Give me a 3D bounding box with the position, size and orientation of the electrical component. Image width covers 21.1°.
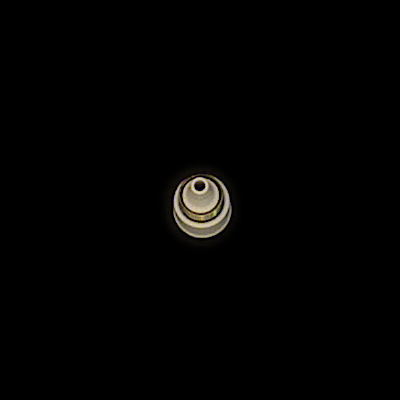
[{"bbox_3d":[0.000,0.000,0.636,0.035,0.035,0.061,0,-17,2],"label":"electrical component"}]
